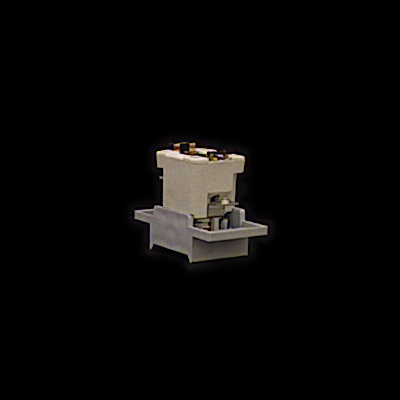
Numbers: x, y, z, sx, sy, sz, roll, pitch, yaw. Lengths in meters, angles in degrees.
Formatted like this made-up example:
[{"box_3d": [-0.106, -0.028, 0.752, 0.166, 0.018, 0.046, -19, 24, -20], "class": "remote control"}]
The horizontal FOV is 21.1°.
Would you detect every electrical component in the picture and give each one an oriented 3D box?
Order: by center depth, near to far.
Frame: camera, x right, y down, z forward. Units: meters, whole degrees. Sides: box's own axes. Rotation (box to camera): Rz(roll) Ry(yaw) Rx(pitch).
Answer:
[{"box_3d": [0.000, 0.000, 0.644, 0.042, 0.064, 0.080, -7, 13, -35], "class": "electrical component"}]
